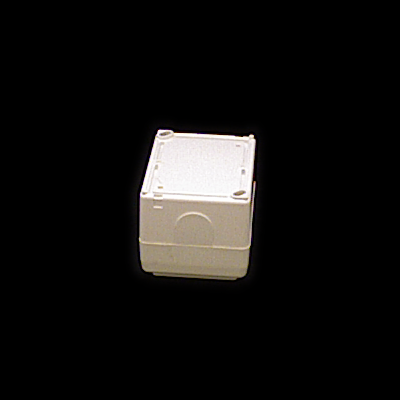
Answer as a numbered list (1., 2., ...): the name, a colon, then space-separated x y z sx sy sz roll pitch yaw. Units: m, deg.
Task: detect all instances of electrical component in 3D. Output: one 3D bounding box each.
1. electrical component: 0.000 0.000 0.636 0.062 0.061 0.095 3 31 4
